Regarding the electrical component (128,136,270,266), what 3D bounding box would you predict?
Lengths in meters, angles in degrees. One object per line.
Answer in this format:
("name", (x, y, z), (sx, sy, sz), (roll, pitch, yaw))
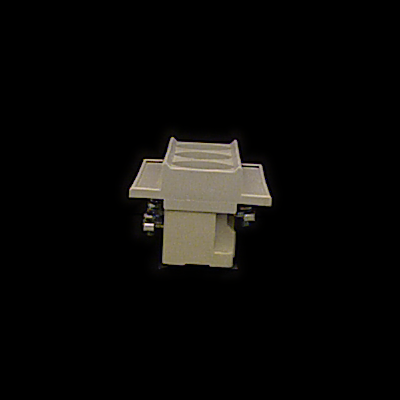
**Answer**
("electrical component", (0.000, 0.000, 0.658), (0.079, 0.063, 0.120), (3, 11, 0))
